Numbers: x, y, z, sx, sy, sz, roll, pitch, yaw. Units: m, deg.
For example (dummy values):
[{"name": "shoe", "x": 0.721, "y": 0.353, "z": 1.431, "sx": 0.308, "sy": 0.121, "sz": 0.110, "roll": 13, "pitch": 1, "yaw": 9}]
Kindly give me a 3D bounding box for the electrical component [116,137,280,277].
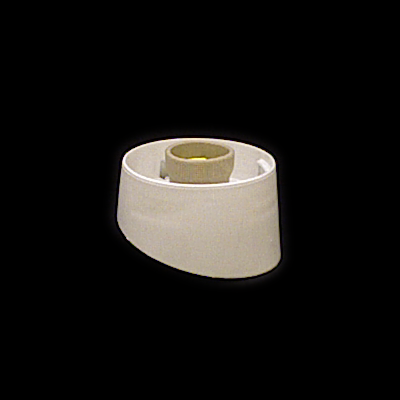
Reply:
[{"name": "electrical component", "x": 0.000, "y": 0.000, "z": 0.638, "sx": 0.099, "sy": 0.065, "sz": 0.097, "roll": 1, "pitch": 21, "yaw": 0}]
